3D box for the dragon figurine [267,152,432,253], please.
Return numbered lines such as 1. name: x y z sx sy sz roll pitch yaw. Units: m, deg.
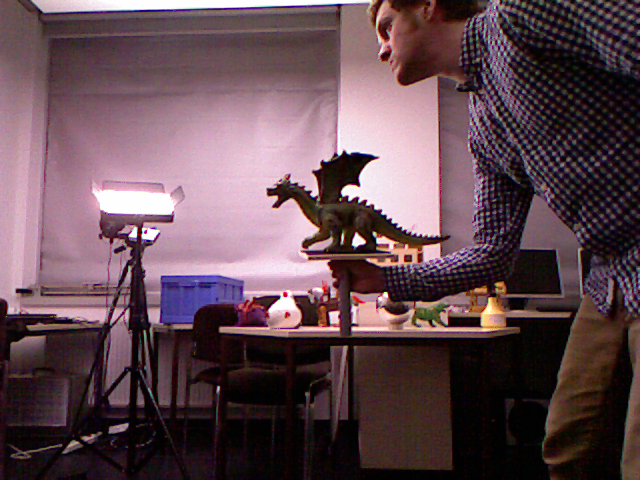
1. dragon figurine: 0.074 -0.094 1.264 0.411 0.242 0.123 -3 5 -11
